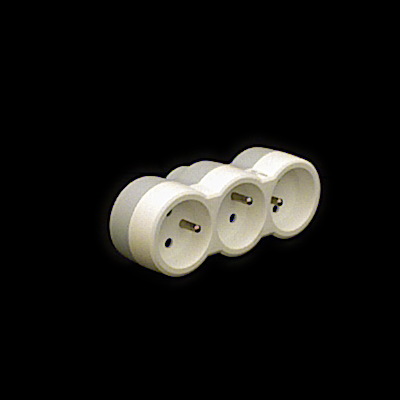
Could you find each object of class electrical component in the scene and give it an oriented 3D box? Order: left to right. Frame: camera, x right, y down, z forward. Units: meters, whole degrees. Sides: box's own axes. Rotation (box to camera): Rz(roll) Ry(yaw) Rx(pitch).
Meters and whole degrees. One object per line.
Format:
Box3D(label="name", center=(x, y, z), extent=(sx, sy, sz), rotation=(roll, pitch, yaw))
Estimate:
Box3D(label="electrical component", center=(0.000, 0.000, 0.650), extent=(0.139, 0.053, 0.072), rotation=(-17, 27, -39))
